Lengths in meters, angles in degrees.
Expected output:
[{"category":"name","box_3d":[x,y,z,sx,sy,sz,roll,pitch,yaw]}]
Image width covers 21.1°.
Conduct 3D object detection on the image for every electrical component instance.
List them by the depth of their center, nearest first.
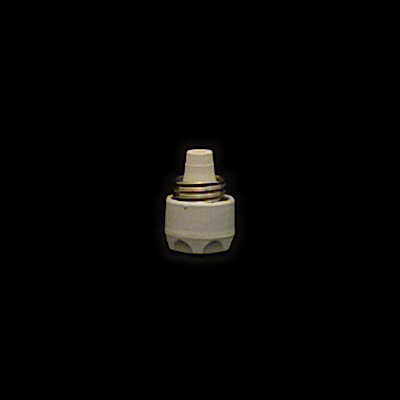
[{"category":"electrical component","box_3d":[0.000,0.000,0.651,0.043,0.062,0.043,0,12,1]}]
